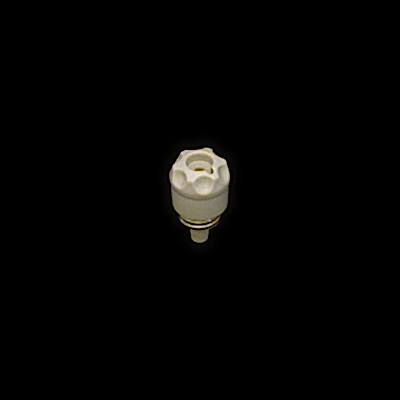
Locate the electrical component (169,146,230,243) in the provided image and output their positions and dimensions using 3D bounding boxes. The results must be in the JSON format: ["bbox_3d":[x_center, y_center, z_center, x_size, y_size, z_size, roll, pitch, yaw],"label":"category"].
[{"bbox_3d":[0.000,0.000,0.636,0.035,0.062,0.035,0,43,0],"label":"electrical component"}]
